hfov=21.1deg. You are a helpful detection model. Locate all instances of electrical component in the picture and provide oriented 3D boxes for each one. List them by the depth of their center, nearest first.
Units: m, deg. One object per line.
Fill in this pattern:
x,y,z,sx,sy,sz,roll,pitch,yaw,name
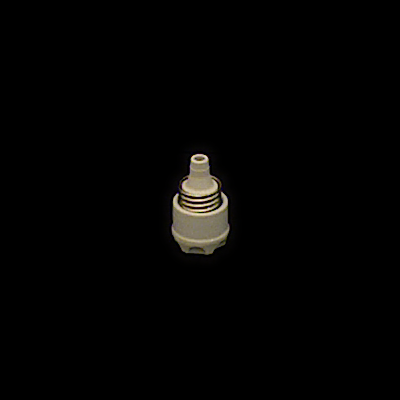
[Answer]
0.000,0.000,0.646,0.035,0.062,0.034,-1,33,1,electrical component
